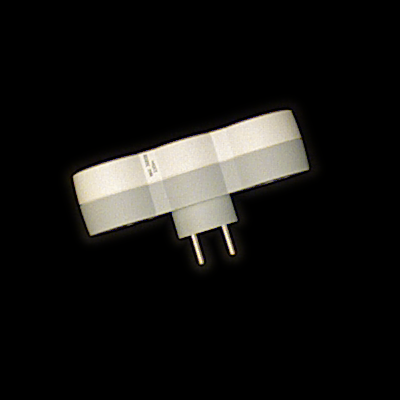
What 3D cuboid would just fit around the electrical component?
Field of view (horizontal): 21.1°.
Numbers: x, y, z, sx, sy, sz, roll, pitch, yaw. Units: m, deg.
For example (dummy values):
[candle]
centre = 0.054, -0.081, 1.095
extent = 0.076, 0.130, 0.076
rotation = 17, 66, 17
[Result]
[electrical component]
centre = 0.000, 0.000, 0.639
extent = 0.138, 0.074, 0.052
rotation = -17, -4, -2
